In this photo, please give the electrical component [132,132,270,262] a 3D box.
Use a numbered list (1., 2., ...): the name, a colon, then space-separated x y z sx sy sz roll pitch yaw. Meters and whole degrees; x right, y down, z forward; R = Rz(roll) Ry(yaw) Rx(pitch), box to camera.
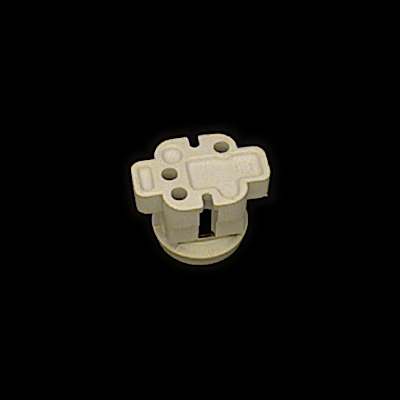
1. electrical component: 0.000 0.000 0.638 0.079 0.057 0.057 -8 -37 -9
